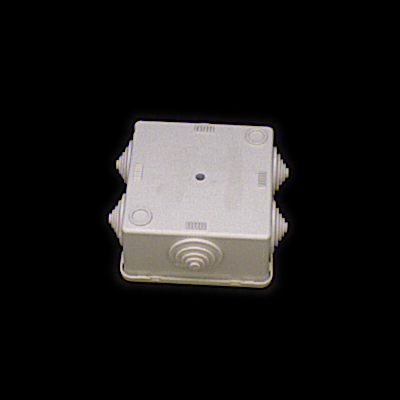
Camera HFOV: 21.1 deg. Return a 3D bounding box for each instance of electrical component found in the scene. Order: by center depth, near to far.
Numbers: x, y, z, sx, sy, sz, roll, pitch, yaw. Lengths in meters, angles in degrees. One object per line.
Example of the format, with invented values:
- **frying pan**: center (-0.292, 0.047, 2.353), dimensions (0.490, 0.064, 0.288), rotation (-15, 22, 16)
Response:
- **electrical component**: center (0.000, 0.000, 0.633), dimensions (0.100, 0.099, 0.049), rotation (3, -37, 1)
